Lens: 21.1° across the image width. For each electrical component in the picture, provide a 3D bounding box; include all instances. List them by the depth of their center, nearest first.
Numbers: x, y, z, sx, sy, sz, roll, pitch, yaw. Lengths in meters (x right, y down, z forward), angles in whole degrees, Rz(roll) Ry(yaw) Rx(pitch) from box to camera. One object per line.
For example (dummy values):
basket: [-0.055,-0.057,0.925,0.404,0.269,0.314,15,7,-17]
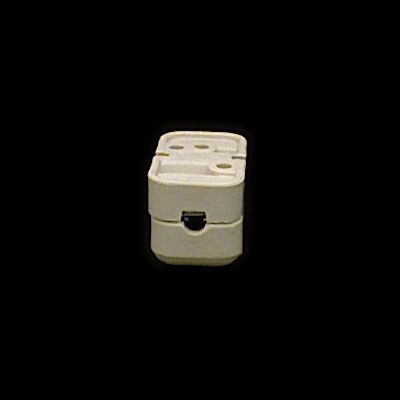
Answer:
electrical component: [0.000,0.000,0.644,0.053,0.060,0.094,2,22,3]
